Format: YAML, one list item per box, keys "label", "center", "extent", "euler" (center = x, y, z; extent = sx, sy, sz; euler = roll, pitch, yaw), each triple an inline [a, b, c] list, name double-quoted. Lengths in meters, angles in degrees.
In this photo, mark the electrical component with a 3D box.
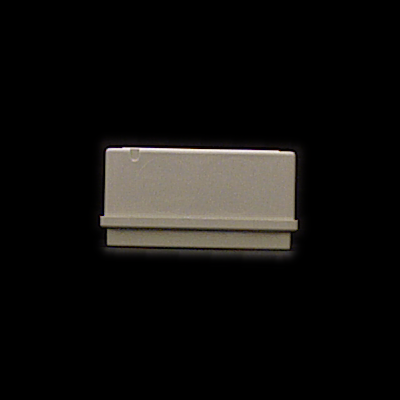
- label: "electrical component"
  center: [0.000, 0.000, 0.649]
  extent: [0.113, 0.057, 0.078]
  euler: [2, 0, 0]
